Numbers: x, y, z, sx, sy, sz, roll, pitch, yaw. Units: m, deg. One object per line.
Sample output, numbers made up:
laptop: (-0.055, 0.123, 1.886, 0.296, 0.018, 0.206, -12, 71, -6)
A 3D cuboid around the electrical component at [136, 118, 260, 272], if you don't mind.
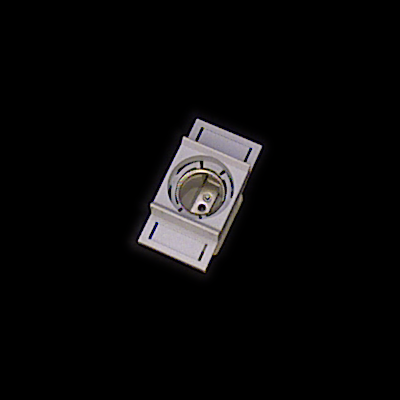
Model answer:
electrical component: (0.000, 0.000, 0.624, 0.042, 0.081, 0.063, 24, -15, 8)
